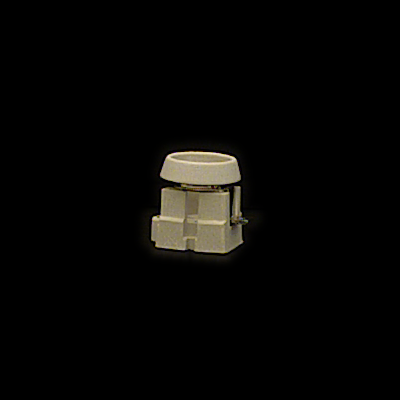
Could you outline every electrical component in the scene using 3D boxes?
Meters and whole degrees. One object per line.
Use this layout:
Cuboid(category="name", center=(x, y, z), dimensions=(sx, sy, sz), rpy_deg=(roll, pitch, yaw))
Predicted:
Cuboid(category="electrical component", center=(0.000, 0.000, 0.652), dimensions=(0.066, 0.056, 0.048), rpy_deg=(5, 14, 17))
